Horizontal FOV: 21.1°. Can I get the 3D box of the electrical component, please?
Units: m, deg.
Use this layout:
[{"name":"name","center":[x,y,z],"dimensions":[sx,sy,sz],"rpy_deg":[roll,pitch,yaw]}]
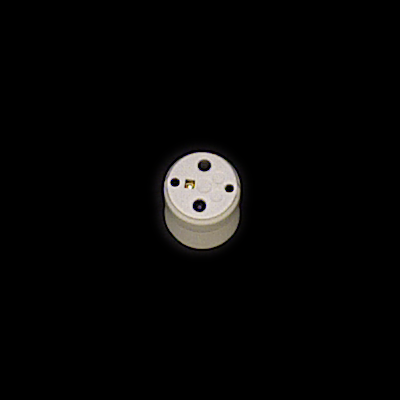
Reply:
[{"name":"electrical component","center":[0.000,0.000,0.629],"dimensions":[0.045,0.045,0.055],"rpy_deg":[0,-17,0]}]
